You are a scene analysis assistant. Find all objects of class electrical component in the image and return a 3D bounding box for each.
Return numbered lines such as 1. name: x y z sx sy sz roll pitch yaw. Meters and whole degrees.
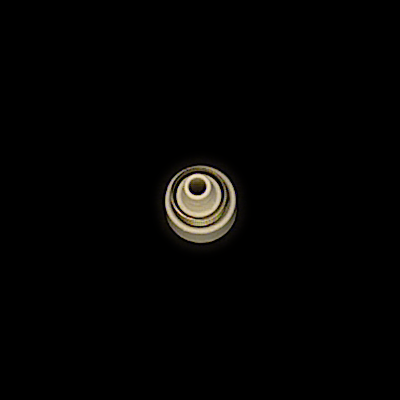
1. electrical component: 0.000 0.000 0.634 0.043 0.043 0.061 0 -15 2
